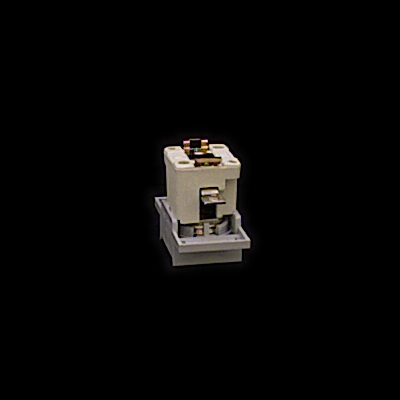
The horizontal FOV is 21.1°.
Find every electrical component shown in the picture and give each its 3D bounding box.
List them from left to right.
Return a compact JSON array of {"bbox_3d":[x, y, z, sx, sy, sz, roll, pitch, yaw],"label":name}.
[{"bbox_3d":[0.000,0.000,0.639,0.042,0.064,0.079,-4,22,-12],"label":"electrical component"}]
